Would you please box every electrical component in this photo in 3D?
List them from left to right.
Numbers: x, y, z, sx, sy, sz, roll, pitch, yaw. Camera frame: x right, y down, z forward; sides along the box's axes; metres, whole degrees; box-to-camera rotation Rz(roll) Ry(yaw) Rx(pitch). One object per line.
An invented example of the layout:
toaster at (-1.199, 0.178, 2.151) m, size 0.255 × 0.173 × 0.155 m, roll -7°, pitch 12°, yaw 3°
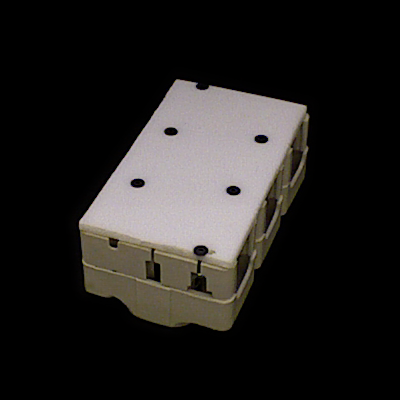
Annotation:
electrical component at (0.000, 0.000, 0.639) m, size 0.089 × 0.063 × 0.147 m, roll 15°, pitch 43°, yaw 15°
